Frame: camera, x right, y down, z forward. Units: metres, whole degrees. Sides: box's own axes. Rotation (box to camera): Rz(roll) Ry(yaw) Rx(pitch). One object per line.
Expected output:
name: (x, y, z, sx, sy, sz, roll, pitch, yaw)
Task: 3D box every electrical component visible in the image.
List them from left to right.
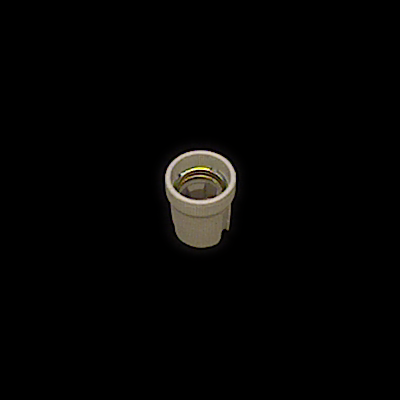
electrical component: (0.000, 0.000, 0.631, 0.040, 0.039, 0.047, 0, -38, -1)
